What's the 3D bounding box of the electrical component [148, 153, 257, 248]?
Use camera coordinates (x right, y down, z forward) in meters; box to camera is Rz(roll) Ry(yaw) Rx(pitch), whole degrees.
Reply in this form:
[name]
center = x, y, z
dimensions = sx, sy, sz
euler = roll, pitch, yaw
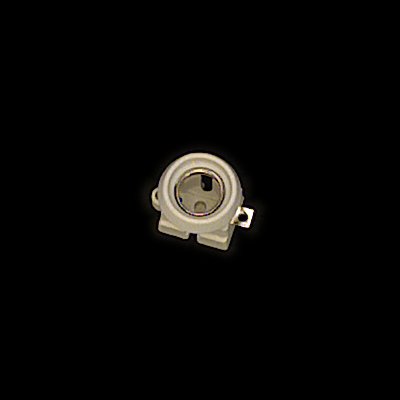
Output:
[electrical component]
center = 0.000, 0.000, 0.638
dimensions = 0.066, 0.048, 0.055
euler = 15, -14, 4
